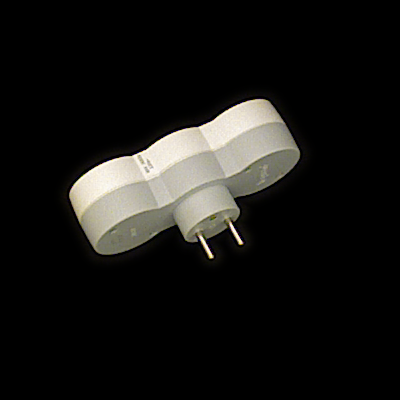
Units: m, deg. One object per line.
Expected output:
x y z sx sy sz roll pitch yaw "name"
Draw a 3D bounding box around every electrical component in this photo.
0.000 0.000 0.636 0.139 0.073 0.052 -24 -22 -12 "electrical component"
